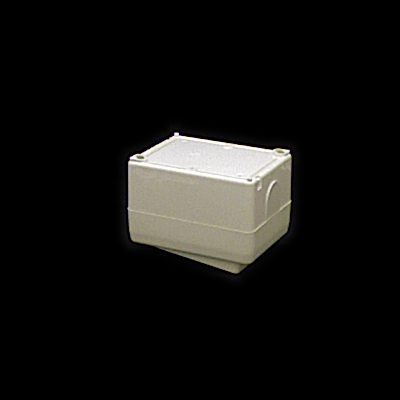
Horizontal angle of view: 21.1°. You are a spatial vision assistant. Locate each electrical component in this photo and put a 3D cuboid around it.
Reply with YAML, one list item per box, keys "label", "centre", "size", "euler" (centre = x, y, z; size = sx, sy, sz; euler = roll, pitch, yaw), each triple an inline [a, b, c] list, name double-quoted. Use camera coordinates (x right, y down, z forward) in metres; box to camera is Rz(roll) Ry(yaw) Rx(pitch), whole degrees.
- label: "electrical component"
  centre: [0.000, 0.000, 0.640]
  size: [0.095, 0.062, 0.061]
  euler: [11, 23, 23]
